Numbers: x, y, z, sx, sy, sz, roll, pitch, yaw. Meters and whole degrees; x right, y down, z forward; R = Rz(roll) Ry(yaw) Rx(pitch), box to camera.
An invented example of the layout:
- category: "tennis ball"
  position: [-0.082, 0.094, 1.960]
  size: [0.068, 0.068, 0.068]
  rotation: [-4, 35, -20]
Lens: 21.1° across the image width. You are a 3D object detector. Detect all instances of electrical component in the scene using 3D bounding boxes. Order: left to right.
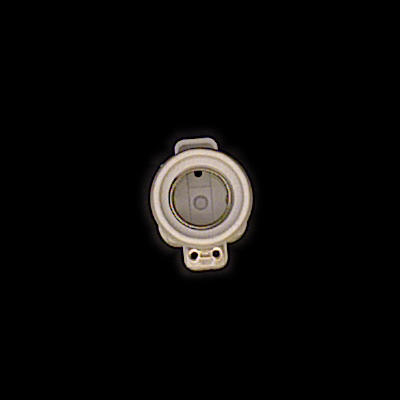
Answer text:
- category: "electrical component"
  position: [0.000, 0.000, 0.629]
  size: [0.058, 0.079, 0.056]
  rotation: [-5, -6, 0]
